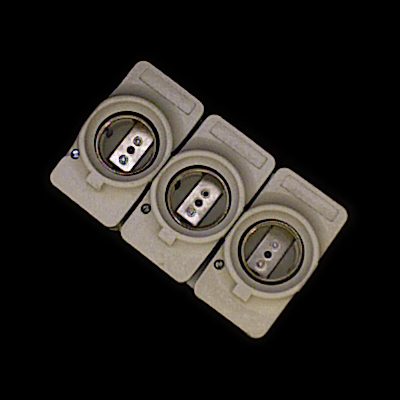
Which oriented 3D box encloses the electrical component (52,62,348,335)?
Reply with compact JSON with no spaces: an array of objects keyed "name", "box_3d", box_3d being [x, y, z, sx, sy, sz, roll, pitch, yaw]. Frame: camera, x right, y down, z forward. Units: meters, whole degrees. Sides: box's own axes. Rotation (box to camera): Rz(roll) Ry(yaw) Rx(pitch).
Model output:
[{"name":"electrical component","box_3d":[0.000,0.000,0.632,0.150,0.089,0.061,37,-4,4]}]
